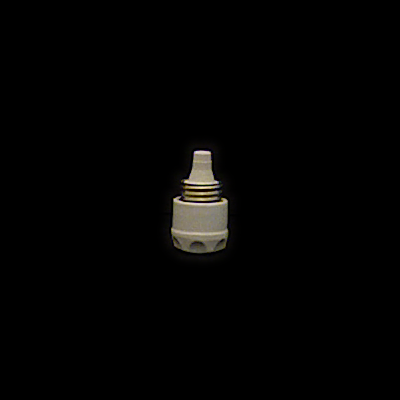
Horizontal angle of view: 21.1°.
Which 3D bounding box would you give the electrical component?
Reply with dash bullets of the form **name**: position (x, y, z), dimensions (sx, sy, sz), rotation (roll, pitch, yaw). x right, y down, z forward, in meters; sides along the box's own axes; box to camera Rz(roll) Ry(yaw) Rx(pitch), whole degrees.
- **electrical component**: position (0.000, 0.000, 0.657), dimensions (0.035, 0.062, 0.035), rotation (3, 12, 0)
